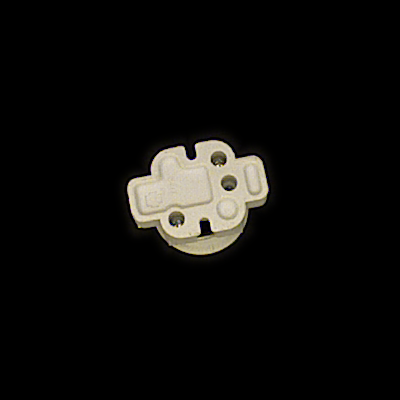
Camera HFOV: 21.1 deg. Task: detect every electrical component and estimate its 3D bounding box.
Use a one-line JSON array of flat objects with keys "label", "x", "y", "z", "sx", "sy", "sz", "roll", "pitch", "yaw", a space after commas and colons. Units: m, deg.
[{"label": "electrical component", "x": 0.000, "y": 0.000, "z": 0.635, "sx": 0.078, "sy": 0.058, "sz": 0.056, "roll": -12, "pitch": -15, "yaw": -2}]
